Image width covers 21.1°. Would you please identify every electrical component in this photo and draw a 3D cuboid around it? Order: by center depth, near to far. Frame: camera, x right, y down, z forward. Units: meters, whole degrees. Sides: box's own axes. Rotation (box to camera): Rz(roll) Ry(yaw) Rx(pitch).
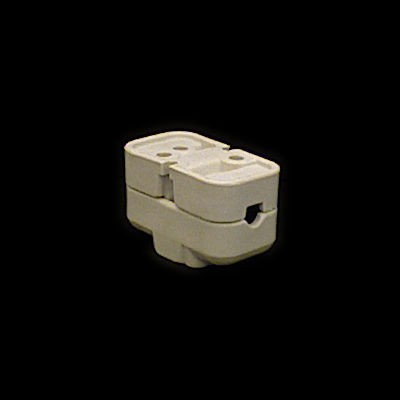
[{"bbox_3d":[0.000,0.000,0.643,0.054,0.060,0.093,-18,29,-39],"label":"electrical component"}]
